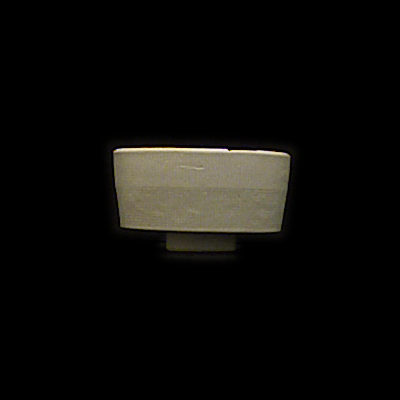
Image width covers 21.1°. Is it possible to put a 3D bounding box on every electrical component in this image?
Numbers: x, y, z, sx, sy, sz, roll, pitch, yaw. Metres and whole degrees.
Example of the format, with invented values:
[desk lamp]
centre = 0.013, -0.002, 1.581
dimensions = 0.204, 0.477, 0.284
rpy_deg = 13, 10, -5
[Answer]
[electrical component]
centre = 0.000, 0.000, 0.658
dimensions = 0.108, 0.060, 0.108
rpy_deg = 2, 1, 1
